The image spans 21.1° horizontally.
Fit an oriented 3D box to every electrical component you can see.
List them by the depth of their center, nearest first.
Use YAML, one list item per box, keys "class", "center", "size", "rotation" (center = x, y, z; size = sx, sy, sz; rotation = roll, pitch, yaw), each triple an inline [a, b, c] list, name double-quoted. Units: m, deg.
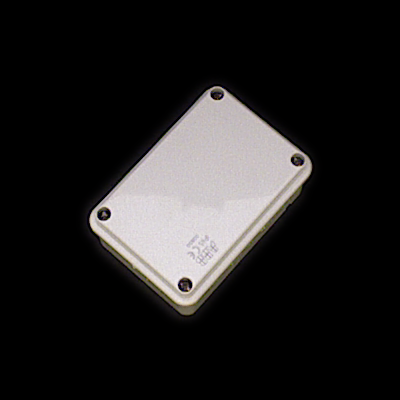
- class: "electrical component"
  center: [0.000, 0.000, 0.626]
  size: [0.078, 0.113, 0.057]
  rotation: [40, -13, 11]
